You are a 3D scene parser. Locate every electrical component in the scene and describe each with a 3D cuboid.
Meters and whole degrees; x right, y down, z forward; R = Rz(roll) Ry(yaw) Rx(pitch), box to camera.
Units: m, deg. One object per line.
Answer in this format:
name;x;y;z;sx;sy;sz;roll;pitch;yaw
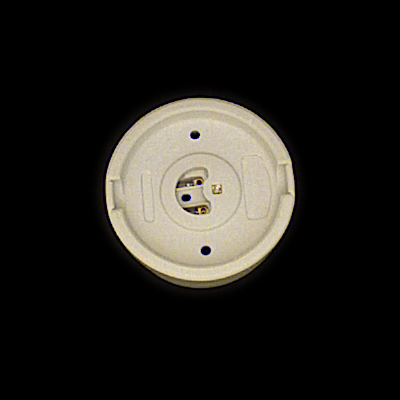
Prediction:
electrical component;0.000;0.000;0.634;0.108;0.108;0.060;0;-16;1
